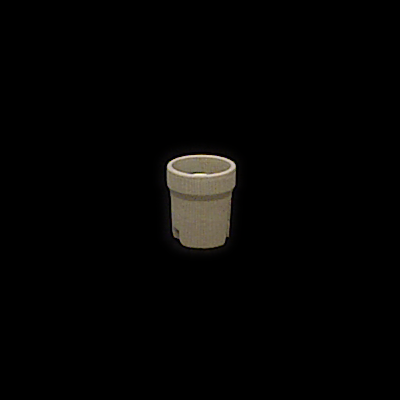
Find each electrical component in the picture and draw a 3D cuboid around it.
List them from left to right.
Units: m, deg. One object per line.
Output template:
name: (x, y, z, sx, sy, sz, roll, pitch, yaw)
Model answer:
electrical component: (0.000, 0.000, 0.640, 0.040, 0.047, 0.039, 1, 21, 0)
